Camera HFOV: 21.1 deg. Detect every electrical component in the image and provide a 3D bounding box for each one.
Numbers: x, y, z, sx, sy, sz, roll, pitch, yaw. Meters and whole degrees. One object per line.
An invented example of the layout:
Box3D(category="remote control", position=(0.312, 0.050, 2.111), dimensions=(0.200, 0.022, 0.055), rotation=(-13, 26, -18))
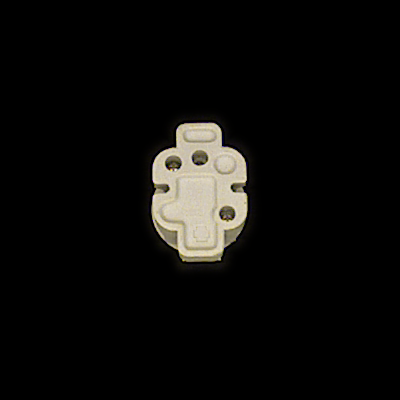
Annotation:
Box3D(category="electrical component", position=(0.000, 0.000, 0.635), dimensions=(0.058, 0.079, 0.056), rotation=(-2, -15, -1))
